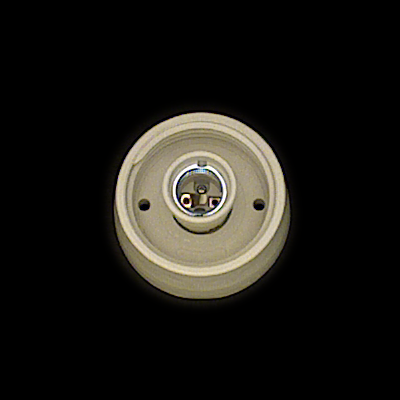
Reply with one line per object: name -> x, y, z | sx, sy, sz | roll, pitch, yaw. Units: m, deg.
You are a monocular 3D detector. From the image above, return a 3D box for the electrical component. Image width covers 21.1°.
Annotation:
electrical component -> 0.000, 0.000, 0.634 | 0.108, 0.108, 0.060 | 0, -16, 0
